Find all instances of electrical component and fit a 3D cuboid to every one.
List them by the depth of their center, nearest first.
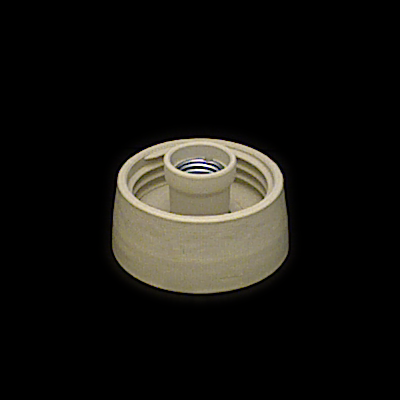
[{"bbox_3d":[0.000,0.000,0.642,0.108,0.061,0.106,1,32,0],"label":"electrical component"}]
